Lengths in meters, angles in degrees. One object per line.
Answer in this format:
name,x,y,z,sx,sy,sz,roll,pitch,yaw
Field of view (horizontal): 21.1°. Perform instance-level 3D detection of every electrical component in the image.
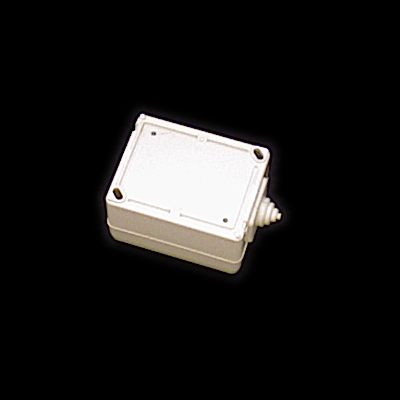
electrical component,0.000,0.000,0.626,0.096,0.062,0.060,16,-26,7
